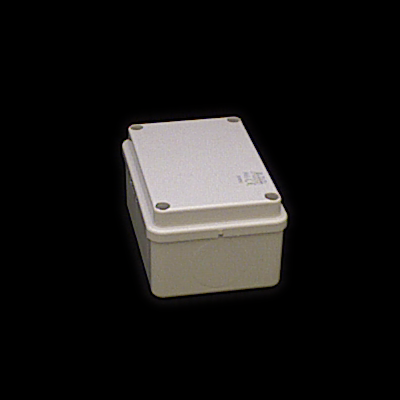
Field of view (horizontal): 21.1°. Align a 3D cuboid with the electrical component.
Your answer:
[{"bbox_3d":[0.000,0.000,0.635,0.078,0.058,0.111,-5,32,-10],"label":"electrical component"}]
